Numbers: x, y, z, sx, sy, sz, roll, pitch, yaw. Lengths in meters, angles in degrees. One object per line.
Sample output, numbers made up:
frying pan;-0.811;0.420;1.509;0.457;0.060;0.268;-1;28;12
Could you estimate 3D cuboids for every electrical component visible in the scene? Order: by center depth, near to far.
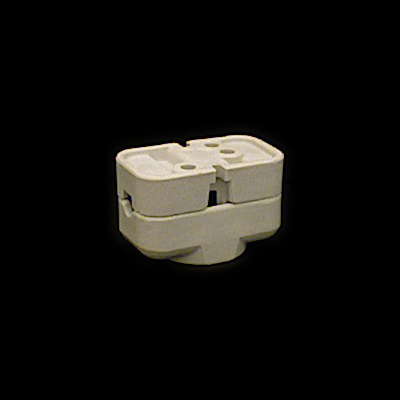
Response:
electrical component;0.000;0.000;0.647;0.096;0.060;0.052;-10;24;-25
